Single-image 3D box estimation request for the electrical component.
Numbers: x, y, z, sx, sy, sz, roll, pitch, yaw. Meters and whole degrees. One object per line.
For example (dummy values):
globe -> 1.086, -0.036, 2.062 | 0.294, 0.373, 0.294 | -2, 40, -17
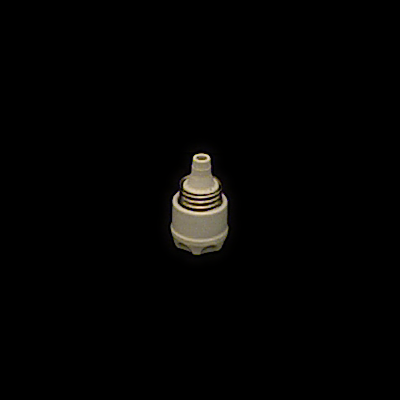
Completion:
electrical component -> 0.000, 0.000, 0.648 | 0.035, 0.062, 0.034 | 2, 33, -1
